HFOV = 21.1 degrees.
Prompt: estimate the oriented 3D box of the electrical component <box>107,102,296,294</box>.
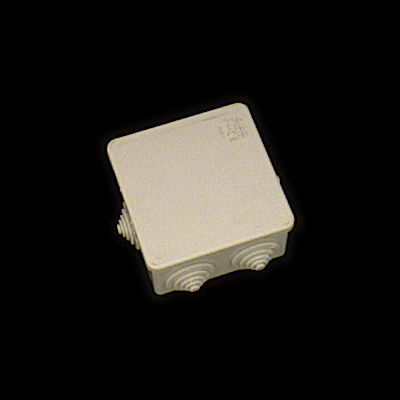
[{"bbox_3d":[0.000,0.000,0.640,0.100,0.099,0.048,-17,-25,-9],"label":"electrical component"}]
